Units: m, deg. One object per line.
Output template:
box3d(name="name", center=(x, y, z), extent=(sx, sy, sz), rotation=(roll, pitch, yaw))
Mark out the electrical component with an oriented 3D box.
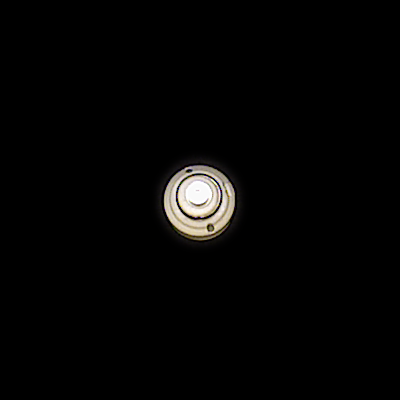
box3d(name="electrical component", center=(0.000, 0.000, 0.618), extent=(0.040, 0.040, 0.078), rotation=(0, -7, 1))
